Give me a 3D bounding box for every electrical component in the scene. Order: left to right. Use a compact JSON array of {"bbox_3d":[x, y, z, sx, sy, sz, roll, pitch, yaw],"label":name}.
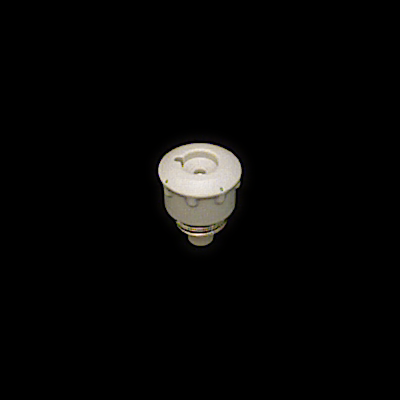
[{"bbox_3d":[0.000,0.000,0.635,0.048,0.062,0.048,1,42,0],"label":"electrical component"}]
